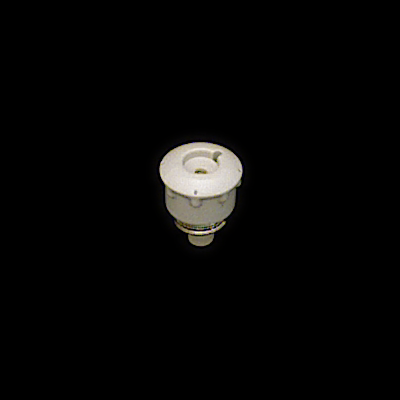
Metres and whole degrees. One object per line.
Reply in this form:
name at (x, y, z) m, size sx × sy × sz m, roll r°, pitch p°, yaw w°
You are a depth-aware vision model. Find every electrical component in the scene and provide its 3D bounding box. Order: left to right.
electrical component at (0.000, 0.000, 0.639) m, size 0.048 × 0.062 × 0.047 m, roll 1°, pitch 43°, yaw 0°
